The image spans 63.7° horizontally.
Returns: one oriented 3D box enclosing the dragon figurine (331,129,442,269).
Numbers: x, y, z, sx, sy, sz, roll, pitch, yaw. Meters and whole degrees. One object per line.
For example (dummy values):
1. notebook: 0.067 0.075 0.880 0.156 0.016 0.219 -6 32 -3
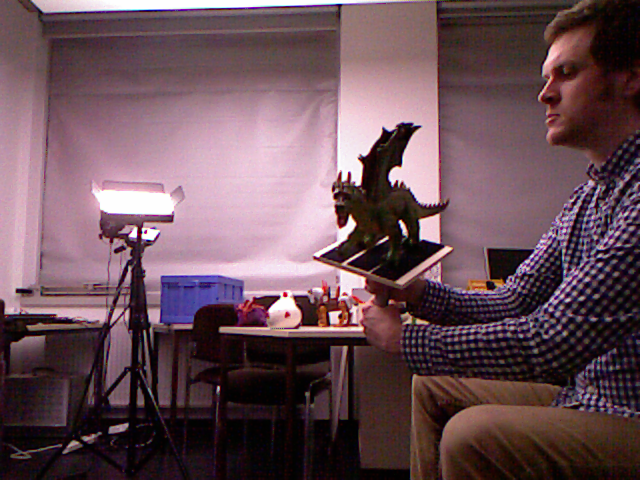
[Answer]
1. dragon figurine: 0.143 -0.093 0.984 0.123 0.238 0.417 22 34 31
